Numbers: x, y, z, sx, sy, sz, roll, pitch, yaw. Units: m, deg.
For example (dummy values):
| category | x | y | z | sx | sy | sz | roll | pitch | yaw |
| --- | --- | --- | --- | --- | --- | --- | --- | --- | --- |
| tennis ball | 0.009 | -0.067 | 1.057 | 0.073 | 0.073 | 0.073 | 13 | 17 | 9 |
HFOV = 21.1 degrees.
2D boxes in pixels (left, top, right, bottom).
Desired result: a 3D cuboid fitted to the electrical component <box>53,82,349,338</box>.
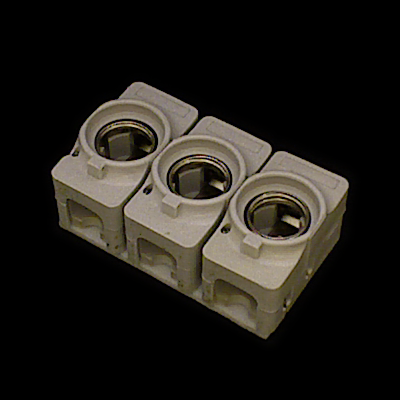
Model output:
| category | x | y | z | sx | sy | sz | roll | pitch | yaw |
| --- | --- | --- | --- | --- | --- | --- | --- | --- | --- |
| electrical component | 0.000 | 0.000 | 0.633 | 0.149 | 0.089 | 0.062 | 26 | -33 | 19 |
